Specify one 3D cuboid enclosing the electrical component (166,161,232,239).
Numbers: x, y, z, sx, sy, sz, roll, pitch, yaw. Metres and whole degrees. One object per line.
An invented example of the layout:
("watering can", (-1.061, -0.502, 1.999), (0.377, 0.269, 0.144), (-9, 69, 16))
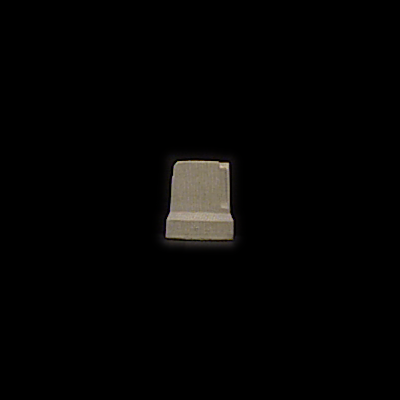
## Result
("electrical component", (0.000, 0.000, 0.652), (0.040, 0.046, 0.040), (2, 1, 0))
